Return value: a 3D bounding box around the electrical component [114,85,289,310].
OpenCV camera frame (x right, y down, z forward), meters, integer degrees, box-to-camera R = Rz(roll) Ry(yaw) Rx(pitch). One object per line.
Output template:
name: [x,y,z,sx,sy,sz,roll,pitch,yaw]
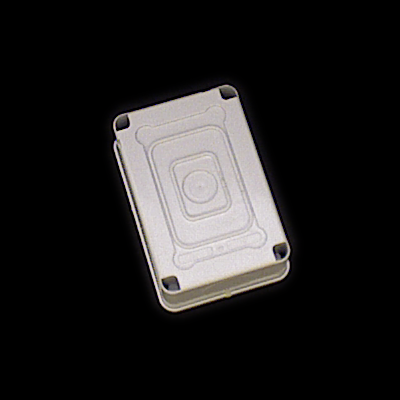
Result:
electrical component: [0.000,0.000,0.627,0.078,0.113,0.057,-16,-16,-5]
